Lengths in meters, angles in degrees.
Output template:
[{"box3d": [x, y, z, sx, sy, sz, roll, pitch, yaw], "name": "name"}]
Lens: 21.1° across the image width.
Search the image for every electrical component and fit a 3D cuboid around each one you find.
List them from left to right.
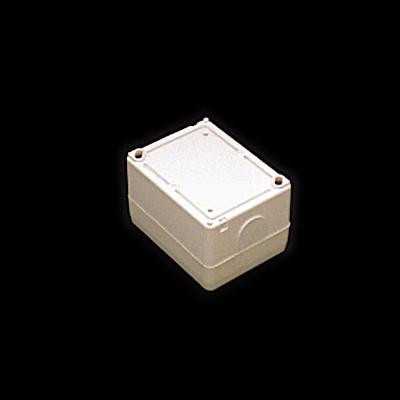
[{"box3d": [0.000, 0.000, 0.633, 0.061, 0.061, 0.095, -27, 48, -28], "name": "electrical component"}]
